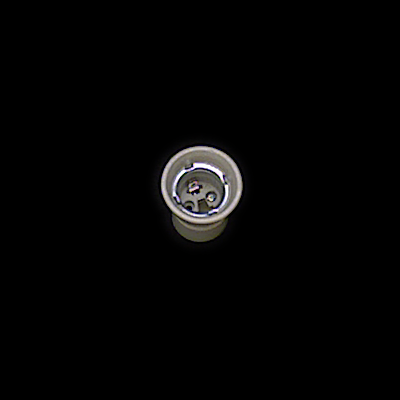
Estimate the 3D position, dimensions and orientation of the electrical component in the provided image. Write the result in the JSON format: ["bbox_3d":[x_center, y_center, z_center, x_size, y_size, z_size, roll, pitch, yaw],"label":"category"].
[{"bbox_3d":[0.000,0.000,0.624,0.044,0.044,0.065,0,-17,-1],"label":"electrical component"}]
